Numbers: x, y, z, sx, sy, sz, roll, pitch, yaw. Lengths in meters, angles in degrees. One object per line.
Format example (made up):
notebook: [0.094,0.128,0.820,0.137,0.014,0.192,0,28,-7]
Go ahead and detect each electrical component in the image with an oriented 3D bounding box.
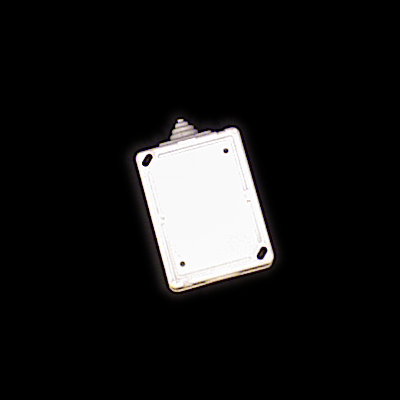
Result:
electrical component: [0.000,0.000,0.629,0.062,0.096,0.061,-15,-8,-1]
